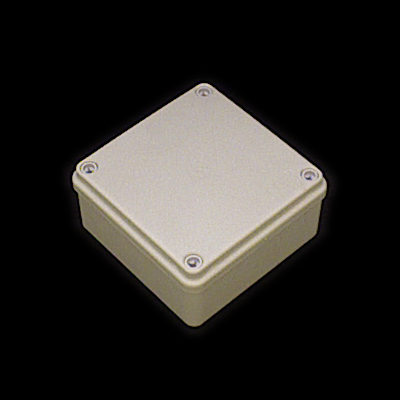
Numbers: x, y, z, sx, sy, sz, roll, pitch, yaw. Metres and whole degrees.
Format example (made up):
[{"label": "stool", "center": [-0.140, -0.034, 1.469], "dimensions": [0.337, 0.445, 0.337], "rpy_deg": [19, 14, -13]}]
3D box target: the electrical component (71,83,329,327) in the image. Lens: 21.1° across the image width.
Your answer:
[{"label": "electrical component", "center": [0.000, 0.000, 0.630], "dimensions": [0.109, 0.056, 0.108], "rpy_deg": [-36, 60, -25]}]
